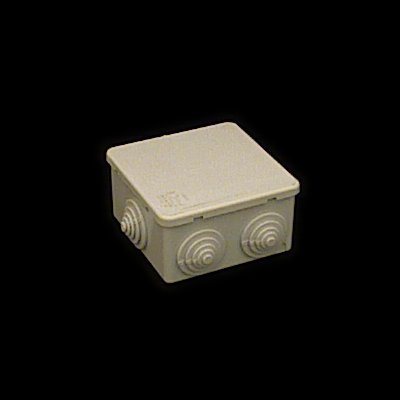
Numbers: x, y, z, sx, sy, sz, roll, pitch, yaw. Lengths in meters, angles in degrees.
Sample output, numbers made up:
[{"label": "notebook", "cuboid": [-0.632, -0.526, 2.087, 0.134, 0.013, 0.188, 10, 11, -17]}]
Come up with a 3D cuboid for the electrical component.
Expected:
[{"label": "electrical component", "cuboid": [0.000, 0.000, 0.643, 0.100, 0.049, 0.098, -14, 35, -22]}]
